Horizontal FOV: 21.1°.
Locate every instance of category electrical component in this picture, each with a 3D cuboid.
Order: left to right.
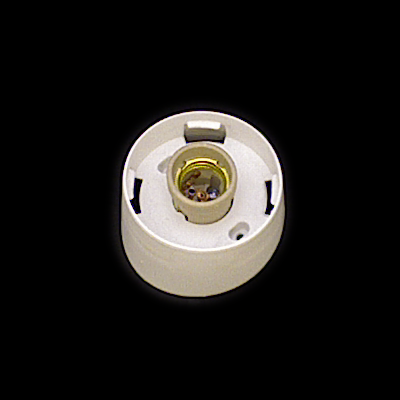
[{"bbox_3d":[0.000,0.000,0.626,0.099,0.099,0.064,0,-27,0],"label":"electrical component"}]
